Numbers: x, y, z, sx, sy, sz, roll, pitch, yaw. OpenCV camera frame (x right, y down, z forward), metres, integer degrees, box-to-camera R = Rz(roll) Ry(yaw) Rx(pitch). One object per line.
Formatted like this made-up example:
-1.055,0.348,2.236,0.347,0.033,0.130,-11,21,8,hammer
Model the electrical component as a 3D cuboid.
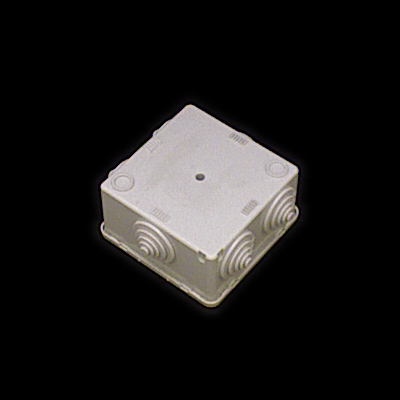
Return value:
0.000,0.000,0.632,0.099,0.100,0.049,32,-31,22,electrical component
